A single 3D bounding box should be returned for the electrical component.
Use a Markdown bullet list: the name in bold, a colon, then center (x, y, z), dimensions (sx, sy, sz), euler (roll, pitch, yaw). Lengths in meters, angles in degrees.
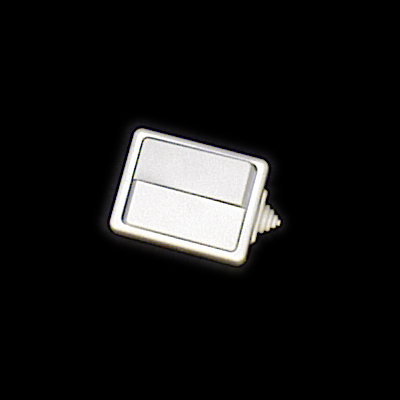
- **electrical component**: center (0.000, 0.000, 0.627), dimensions (0.096, 0.062, 0.061), euler (15, -6, 2)
